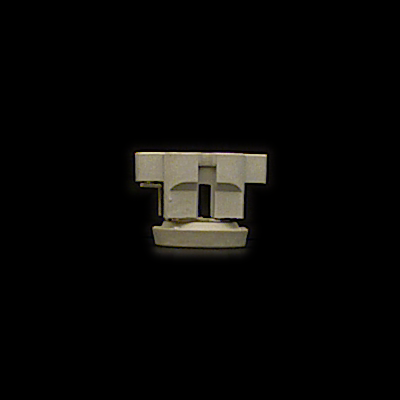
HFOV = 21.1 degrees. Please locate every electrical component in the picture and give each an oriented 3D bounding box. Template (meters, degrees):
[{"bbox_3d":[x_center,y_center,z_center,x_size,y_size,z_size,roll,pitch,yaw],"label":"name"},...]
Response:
[{"bbox_3d":[0.000,0.000,0.655,0.079,0.057,0.057,0,2,-10],"label":"electrical component"}]
